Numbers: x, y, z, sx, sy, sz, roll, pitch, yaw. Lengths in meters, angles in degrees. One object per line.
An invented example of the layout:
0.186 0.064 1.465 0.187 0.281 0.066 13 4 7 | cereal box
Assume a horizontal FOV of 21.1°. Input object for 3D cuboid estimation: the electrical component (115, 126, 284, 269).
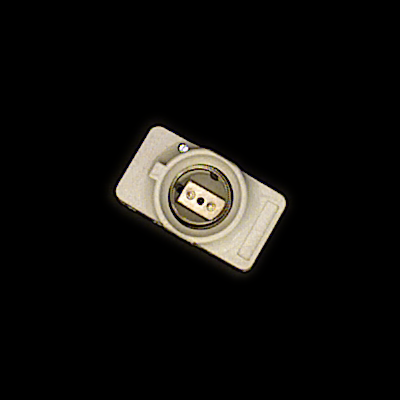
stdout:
0.000 0.000 0.637 0.089 0.050 0.055 30 -4 3 | electrical component
